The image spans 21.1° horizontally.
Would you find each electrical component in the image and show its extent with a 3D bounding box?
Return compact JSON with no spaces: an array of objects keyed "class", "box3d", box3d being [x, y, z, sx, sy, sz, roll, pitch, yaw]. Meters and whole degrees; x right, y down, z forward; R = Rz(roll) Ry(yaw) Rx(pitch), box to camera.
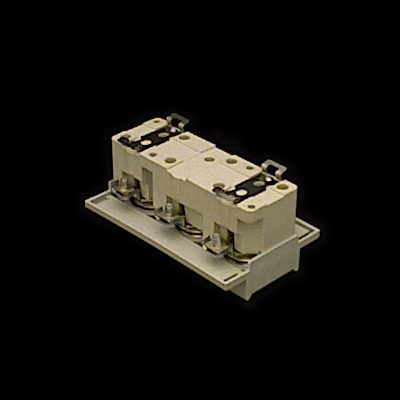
[{"class":"electrical component","box3d":[0.000,0.000,0.639,0.079,0.064,0.119,-28,42,-37]}]
